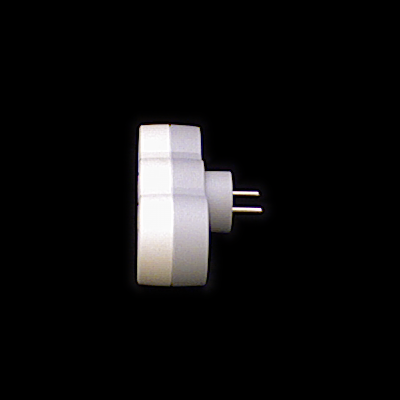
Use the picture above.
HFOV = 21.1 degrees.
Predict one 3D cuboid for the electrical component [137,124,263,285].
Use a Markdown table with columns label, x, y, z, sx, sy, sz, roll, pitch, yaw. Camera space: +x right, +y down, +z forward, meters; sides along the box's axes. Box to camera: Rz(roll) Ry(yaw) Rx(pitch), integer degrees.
| label | x | y | z | sx | sy | sz | roll | pitch | yaw |
| --- | --- | --- | --- | --- | --- | --- | --- | --- | --- |
| electrical component | 0.000 | 0.000 | 0.639 | 0.074 | 0.053 | 0.136 | 1 | 31 | -4 |
